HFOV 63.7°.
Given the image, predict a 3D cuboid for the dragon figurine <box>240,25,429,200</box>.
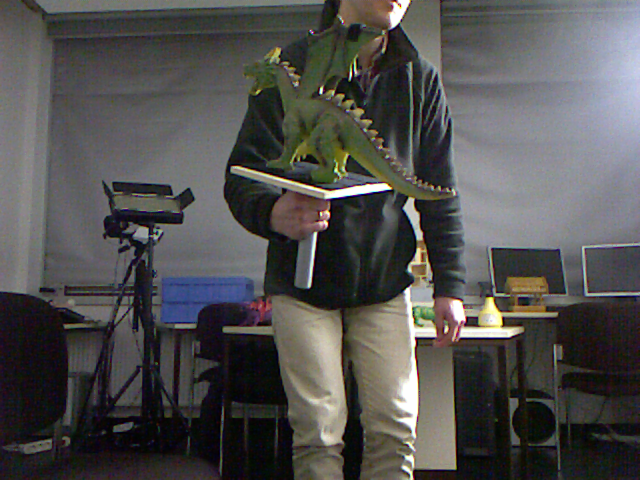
[{"bbox_3d":[0.021,-0.227,0.845,0.414,0.240,0.123,21,21,34],"label":"dragon figurine"}]
